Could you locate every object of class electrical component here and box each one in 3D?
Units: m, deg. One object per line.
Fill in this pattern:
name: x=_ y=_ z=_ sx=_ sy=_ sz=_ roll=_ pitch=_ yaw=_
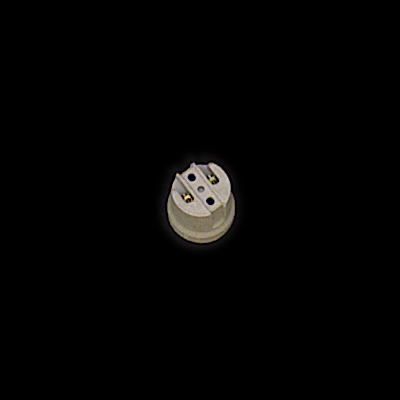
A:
electrical component: x=0.000 y=0.000 z=0.633 sx=0.040 sy=0.040 sz=0.046 roll=0 pitch=-17 yaw=0
